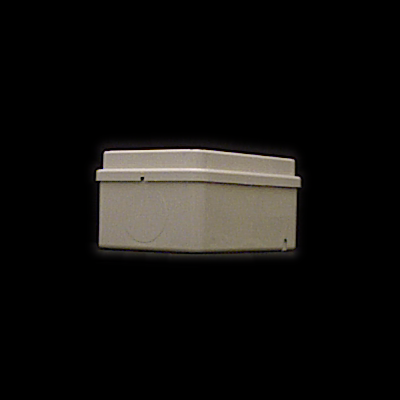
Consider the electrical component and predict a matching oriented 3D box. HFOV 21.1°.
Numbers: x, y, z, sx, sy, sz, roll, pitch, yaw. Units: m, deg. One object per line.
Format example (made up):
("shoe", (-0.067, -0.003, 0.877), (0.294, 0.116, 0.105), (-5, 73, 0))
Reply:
("electrical component", (0.000, 0.000, 0.648), (0.078, 0.057, 0.113), (1, 0, 36))
